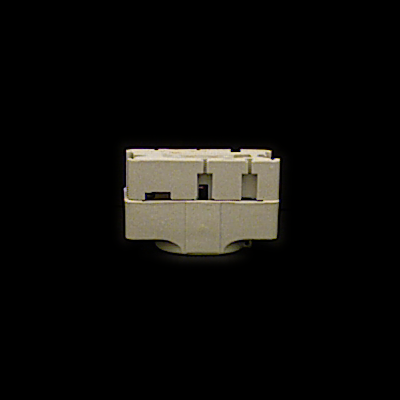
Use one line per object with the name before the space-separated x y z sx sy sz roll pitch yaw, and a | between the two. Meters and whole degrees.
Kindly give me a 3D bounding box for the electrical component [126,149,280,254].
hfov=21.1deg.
electrical component | 0.000 0.000 0.652 0.090 0.056 0.049 1 11 -6
